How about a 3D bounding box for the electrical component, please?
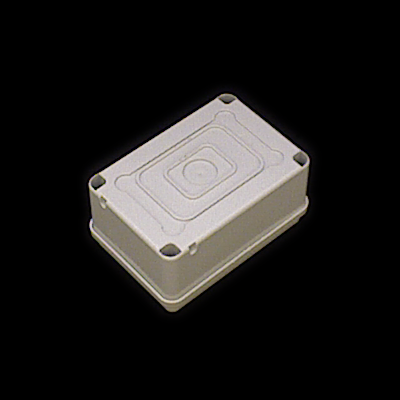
[{"bbox_3d":[0.000,0.000,0.629,0.113,0.057,0.078,-34,60,-25],"label":"electrical component"}]
